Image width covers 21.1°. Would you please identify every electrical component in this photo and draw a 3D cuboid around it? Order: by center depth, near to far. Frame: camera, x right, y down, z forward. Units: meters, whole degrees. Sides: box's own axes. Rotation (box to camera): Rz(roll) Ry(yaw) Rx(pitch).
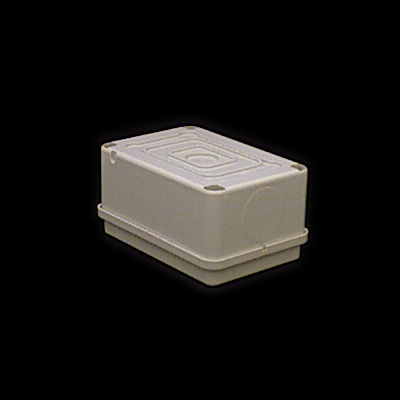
[{"bbox_3d":[0.000,0.000,0.639,0.078,0.058,0.112,-15,27,-37],"label":"electrical component"}]
